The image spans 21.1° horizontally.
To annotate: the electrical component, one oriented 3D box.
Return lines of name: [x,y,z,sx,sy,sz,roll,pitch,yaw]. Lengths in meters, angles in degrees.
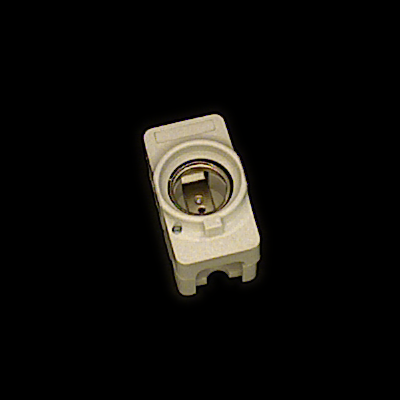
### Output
electrical component: [0.000,0.000,0.635,0.050,0.089,0.055,-13,-26,-6]
